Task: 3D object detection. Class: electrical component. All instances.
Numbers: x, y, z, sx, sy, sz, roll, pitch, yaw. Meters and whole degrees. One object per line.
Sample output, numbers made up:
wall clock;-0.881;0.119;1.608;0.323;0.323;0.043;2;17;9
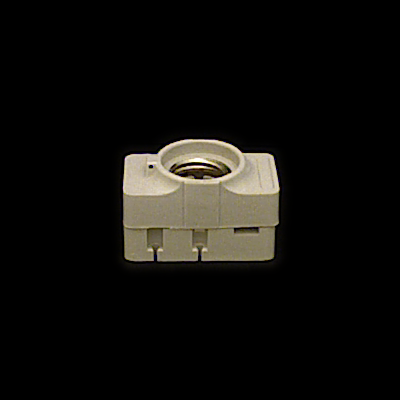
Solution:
electrical component;0.000;0.000;0.643;0.090;0.056;0.049;-1;32;-3
